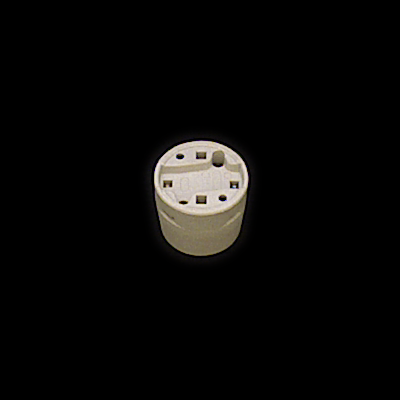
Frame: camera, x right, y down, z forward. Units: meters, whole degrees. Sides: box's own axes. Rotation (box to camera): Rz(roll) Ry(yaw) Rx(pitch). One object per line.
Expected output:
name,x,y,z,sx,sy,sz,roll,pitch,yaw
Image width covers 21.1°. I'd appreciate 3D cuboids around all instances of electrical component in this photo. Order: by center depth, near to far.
electrical component,0.000,0.000,0.635,0.055,0.055,0.047,0,-38,0
